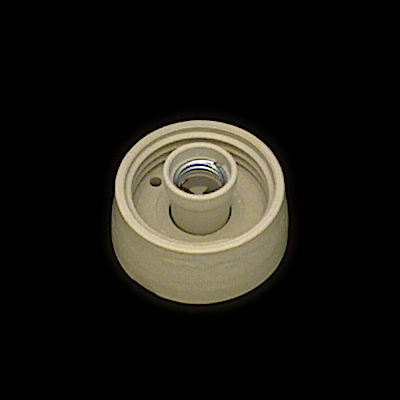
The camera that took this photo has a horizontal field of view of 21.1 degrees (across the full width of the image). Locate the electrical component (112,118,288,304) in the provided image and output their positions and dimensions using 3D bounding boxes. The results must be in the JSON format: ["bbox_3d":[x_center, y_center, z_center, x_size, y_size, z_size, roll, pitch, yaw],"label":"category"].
[{"bbox_3d":[0.000,0.000,0.634,0.108,0.107,0.060,0,-37,-1],"label":"electrical component"}]
